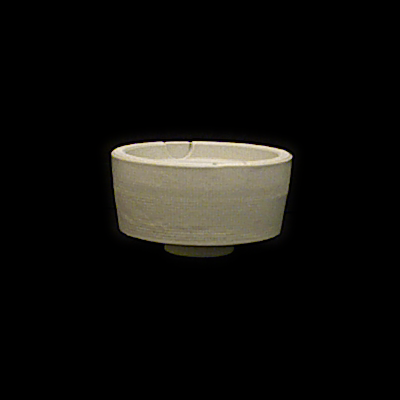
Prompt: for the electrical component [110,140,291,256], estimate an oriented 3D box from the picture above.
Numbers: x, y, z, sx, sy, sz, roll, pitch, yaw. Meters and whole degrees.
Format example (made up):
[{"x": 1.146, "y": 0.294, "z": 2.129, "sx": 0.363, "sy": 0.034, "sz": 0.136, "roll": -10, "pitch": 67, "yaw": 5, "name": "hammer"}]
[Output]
[{"x": 0.000, "y": 0.000, "z": 0.648, "sx": 0.108, "sy": 0.061, "sz": 0.107, "roll": 1, "pitch": 11, "yaw": 0, "name": "electrical component"}]
